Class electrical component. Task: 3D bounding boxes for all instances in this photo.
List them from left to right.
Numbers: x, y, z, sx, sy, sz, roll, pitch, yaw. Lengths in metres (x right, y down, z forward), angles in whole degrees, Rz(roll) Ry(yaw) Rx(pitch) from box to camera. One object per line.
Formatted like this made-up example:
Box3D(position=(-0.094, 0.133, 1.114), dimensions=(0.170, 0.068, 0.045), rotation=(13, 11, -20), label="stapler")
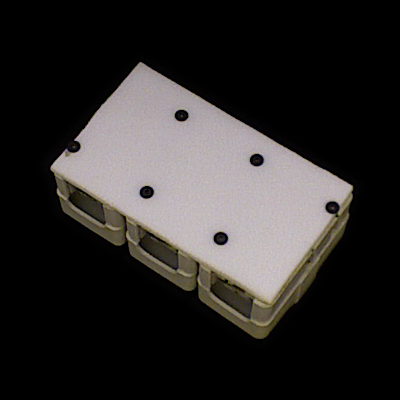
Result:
Box3D(position=(0.000, 0.000, 0.631), dimensions=(0.150, 0.089, 0.062), rotation=(32, -23, 15), label="electrical component")
